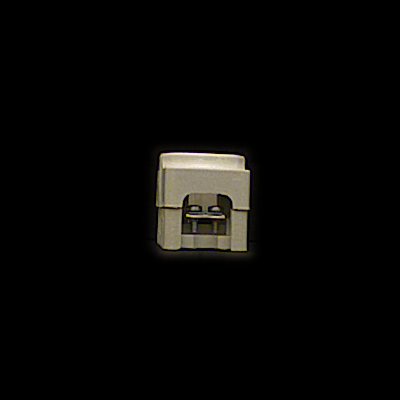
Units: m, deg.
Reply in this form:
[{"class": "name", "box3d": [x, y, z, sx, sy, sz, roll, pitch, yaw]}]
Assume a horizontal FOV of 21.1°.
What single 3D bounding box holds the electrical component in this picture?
[{"class": "electrical component", "box3d": [0.000, 0.000, 0.657, 0.050, 0.056, 0.089, 1, 1, -6]}]
